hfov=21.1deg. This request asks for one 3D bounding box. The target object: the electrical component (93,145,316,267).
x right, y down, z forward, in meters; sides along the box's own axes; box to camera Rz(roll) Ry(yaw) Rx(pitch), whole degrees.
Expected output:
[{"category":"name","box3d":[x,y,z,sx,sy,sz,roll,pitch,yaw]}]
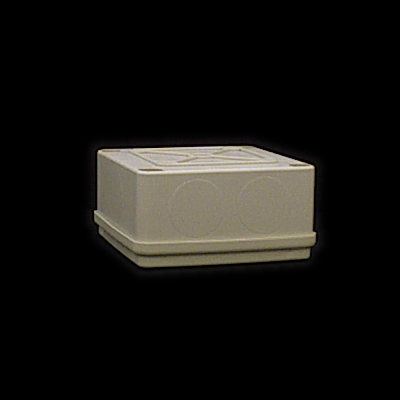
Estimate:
[{"category":"electrical component","box3d":[0.000,0.000,0.644,0.109,0.056,0.107,-3,10,-19]}]
